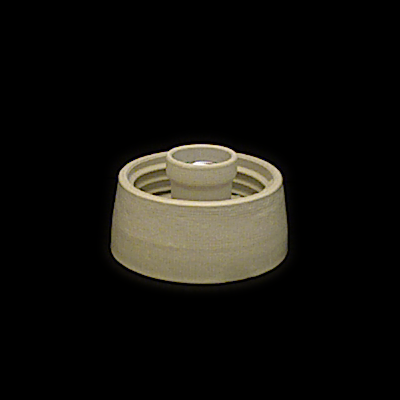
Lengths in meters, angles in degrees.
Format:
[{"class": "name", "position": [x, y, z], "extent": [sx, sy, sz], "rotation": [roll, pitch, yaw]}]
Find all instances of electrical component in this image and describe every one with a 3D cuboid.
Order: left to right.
[{"class": "electrical component", "position": [0.000, 0.000, 0.645], "extent": [0.108, 0.061, 0.106], "rotation": [1, 21, 0]}]
